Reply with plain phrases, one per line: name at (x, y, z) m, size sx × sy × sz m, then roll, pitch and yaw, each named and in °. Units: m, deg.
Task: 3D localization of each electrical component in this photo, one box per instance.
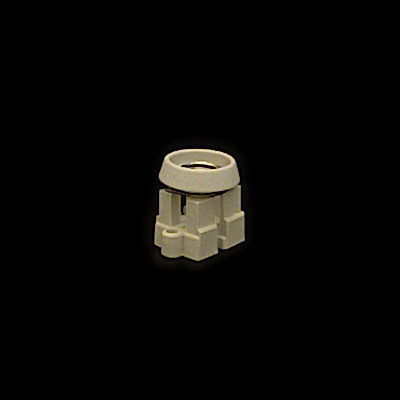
electrical component at (0.000, 0.000, 0.648) m, size 0.048 × 0.056 × 0.066 m, roll 21°, pitch 29°, yaw 36°
